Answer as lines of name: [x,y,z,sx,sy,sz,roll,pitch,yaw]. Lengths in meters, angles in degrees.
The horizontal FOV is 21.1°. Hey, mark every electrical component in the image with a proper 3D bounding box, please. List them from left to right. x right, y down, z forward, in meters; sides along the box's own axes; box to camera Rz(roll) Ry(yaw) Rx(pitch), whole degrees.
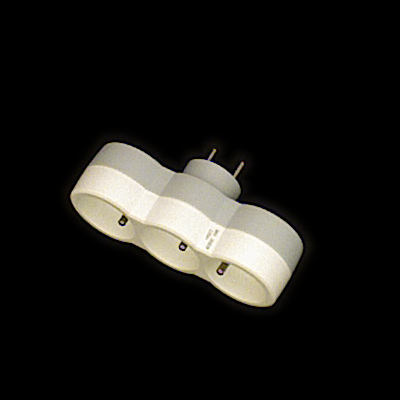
electrical component: [0.000,0.000,0.639,0.138,0.074,0.052,26,-25,12]
